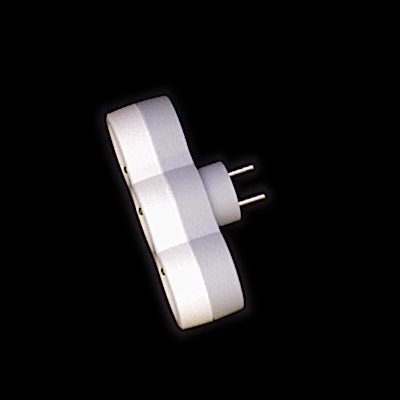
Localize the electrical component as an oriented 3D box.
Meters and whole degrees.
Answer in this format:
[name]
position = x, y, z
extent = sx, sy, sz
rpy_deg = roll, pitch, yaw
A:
[electrical component]
position = 0.000, 0.000, 0.631
extent = 0.074, 0.138, 0.052
rpy_deg = -19, -17, -7
